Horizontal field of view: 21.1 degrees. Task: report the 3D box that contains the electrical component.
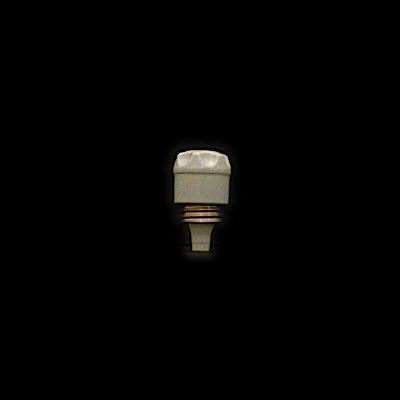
[{"bbox_3d":[0.000,0.000,0.659,0.035,0.061,0.035,1,1,1],"label":"electrical component"}]
